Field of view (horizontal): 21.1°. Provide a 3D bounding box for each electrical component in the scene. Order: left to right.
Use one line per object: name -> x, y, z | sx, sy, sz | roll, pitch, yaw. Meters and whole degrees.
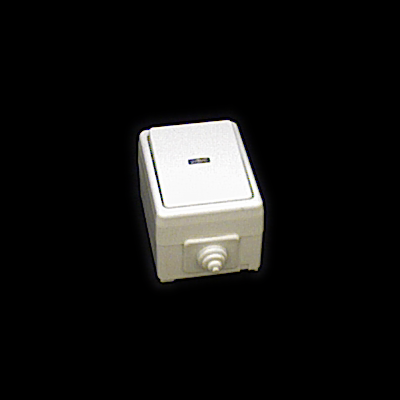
electrical component -> 0.000, 0.000, 0.628 | 0.062, 0.061, 0.095 | -7, 42, -8
